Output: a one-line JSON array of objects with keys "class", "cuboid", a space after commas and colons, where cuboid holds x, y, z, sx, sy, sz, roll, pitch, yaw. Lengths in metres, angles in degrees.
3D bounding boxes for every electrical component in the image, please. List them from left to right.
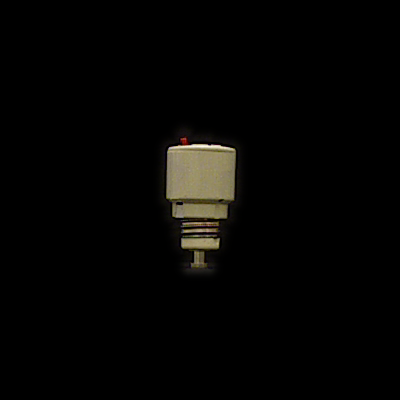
[{"class": "electrical component", "cuboid": [0.000, 0.000, 0.648, 0.040, 0.078, 0.040, 1, 2, 0]}]
